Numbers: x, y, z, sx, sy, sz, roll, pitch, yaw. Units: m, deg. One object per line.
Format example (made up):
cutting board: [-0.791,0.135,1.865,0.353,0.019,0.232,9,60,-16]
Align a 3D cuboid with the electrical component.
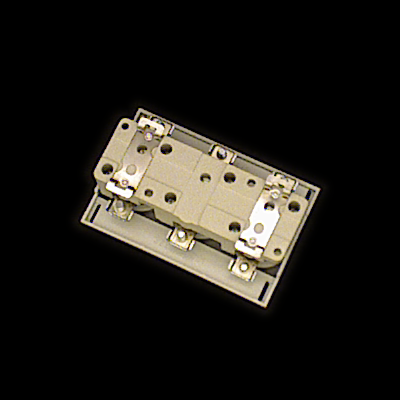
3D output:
electrical component: [0.000,0.000,0.633,0.121,0.079,0.062,24,-14,7]
